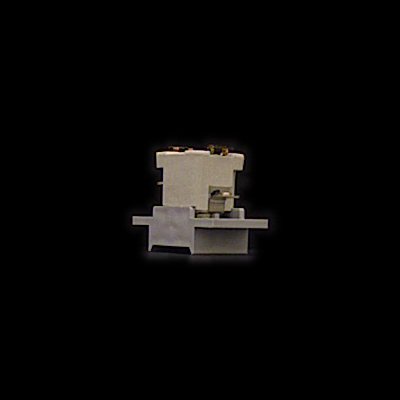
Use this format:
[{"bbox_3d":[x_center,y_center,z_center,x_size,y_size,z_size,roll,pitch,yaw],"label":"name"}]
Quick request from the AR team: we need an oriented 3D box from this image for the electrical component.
[{"bbox_3d":[0.000,0.000,0.650,0.042,0.064,0.081,0,0,-39],"label":"electrical component"}]
